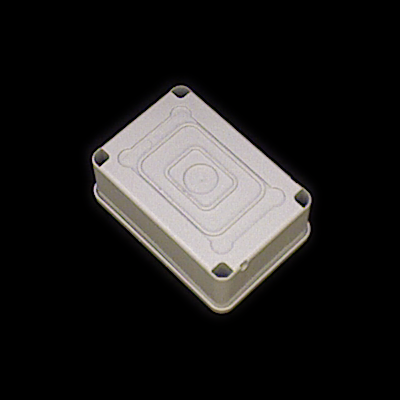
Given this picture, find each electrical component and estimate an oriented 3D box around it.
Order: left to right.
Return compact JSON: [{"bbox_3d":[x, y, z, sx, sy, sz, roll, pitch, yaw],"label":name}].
[{"bbox_3d":[0.000,0.000,0.628,0.078,0.113,0.057,-41,-20,-18],"label":"electrical component"}]
